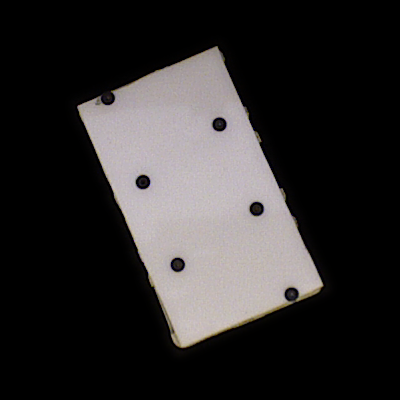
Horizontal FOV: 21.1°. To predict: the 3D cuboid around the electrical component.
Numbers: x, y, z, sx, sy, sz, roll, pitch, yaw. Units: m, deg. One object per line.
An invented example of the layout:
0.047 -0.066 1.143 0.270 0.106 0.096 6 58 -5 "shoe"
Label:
0.000 0.000 0.631 0.089 0.150 0.061 -23 -5 -2 "electrical component"
